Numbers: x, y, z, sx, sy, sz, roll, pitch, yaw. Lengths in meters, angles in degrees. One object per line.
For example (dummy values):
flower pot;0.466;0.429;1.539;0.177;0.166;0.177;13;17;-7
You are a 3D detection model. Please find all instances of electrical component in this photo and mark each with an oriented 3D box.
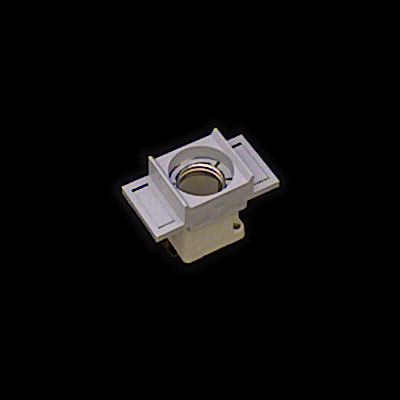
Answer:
electrical component;0.000;0.000;0.625;0.081;0.042;0.064;-24;-33;-18
